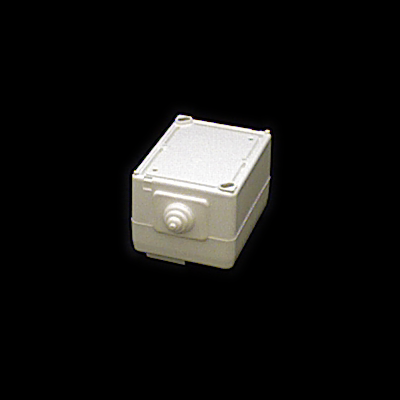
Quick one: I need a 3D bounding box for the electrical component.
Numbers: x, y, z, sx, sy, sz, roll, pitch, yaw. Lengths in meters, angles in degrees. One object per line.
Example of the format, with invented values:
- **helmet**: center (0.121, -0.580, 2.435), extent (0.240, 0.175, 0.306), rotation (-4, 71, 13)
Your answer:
- **electrical component**: center (-0.001, 0.000, 0.627), extent (0.061, 0.061, 0.095), rotation (11, 32, 15)
